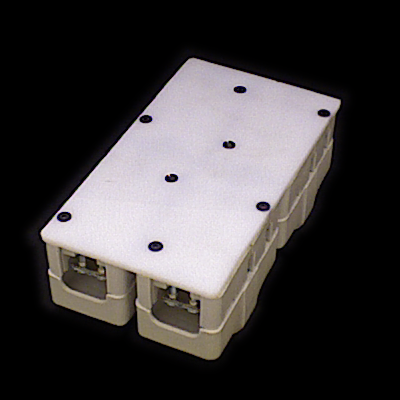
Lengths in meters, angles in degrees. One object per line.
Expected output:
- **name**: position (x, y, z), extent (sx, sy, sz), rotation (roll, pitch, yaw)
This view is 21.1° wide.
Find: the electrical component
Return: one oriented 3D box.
- **electrical component**: position (0.000, 0.000, 0.630), extent (0.105, 0.061, 0.185), rotation (18, 45, 18)
